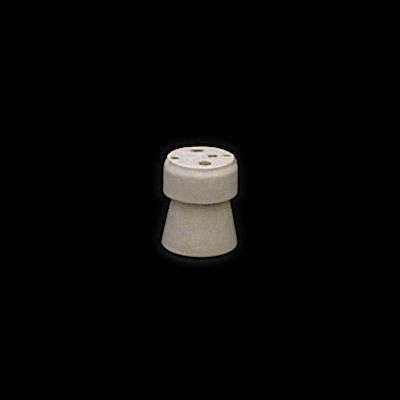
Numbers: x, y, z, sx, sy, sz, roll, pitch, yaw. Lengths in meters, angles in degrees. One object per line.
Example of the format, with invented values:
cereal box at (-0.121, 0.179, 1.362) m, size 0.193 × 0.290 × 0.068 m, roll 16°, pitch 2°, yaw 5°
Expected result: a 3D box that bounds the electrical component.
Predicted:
electrical component at (0.000, 0.000, 0.638) m, size 0.045 × 0.056 × 0.044 m, roll 1°, pitch 22°, yaw 0°
